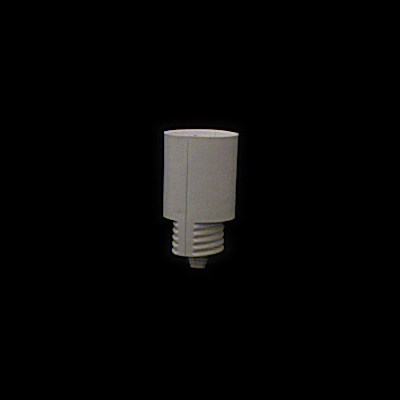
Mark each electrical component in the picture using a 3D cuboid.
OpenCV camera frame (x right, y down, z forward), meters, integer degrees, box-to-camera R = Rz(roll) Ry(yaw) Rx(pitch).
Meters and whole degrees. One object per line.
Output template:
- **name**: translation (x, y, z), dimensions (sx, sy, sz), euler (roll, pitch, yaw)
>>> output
- **electrical component**: translation (0.000, 0.000, 0.639), dimensions (0.043, 0.082, 0.042), euler (0, 12, 0)
